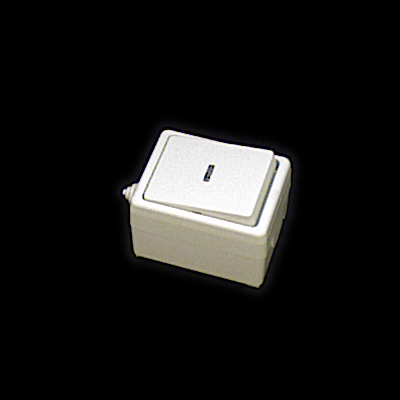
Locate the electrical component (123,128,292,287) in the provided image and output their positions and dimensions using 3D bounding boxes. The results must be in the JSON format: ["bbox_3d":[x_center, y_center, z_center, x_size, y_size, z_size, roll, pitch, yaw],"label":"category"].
[{"bbox_3d":[0.000,0.000,0.628,0.096,0.061,0.061,14,-37,10],"label":"electrical component"}]
